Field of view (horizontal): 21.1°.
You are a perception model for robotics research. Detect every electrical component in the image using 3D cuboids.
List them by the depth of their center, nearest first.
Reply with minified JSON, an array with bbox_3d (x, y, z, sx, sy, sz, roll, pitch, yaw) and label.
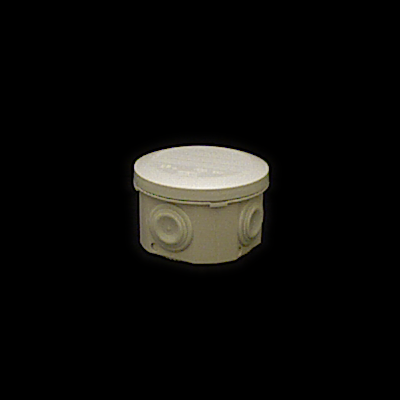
[{"bbox_3d":[0.000,0.000,0.641,0.080,0.051,0.079,1,21,0],"label":"electrical component"}]
